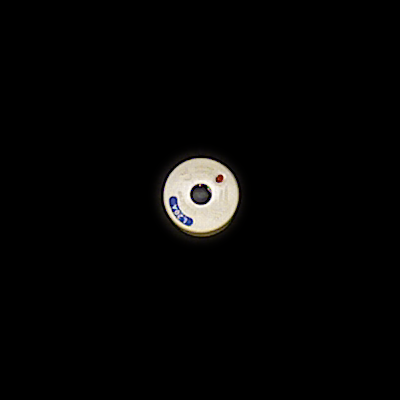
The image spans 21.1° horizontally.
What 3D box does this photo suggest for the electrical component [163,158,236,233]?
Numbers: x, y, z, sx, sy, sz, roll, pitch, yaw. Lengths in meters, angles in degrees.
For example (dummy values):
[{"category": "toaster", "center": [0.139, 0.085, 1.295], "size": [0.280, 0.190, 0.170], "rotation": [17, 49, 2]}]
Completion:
[{"category": "electrical component", "center": [0.000, 0.000, 0.618], "size": [0.040, 0.040, 0.078], "rotation": [0, -7, 0]}]
